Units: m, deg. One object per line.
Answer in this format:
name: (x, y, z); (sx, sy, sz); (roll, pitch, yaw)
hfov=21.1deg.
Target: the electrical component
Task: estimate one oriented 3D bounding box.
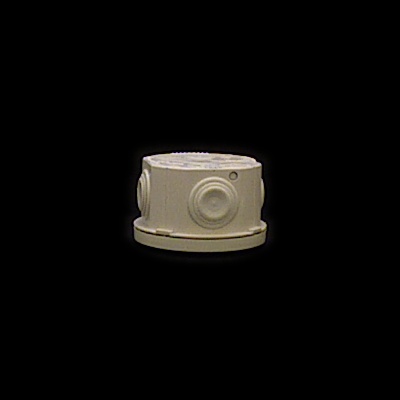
electrical component: (0.000, 0.000, 0.647); (0.080, 0.051, 0.079); (1, 10, 0)
